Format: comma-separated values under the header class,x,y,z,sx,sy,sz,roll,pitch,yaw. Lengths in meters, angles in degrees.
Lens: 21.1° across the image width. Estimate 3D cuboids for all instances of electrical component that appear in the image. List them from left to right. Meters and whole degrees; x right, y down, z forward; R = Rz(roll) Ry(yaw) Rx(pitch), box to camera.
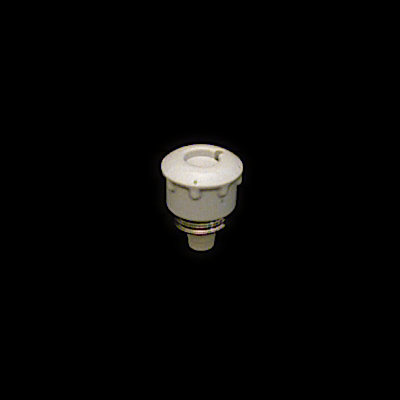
class,x,y,z,sx,sy,sz,roll,pitch,yaw
electrical component,0.000,0.000,0.643,0.048,0.063,0.047,1,32,0
